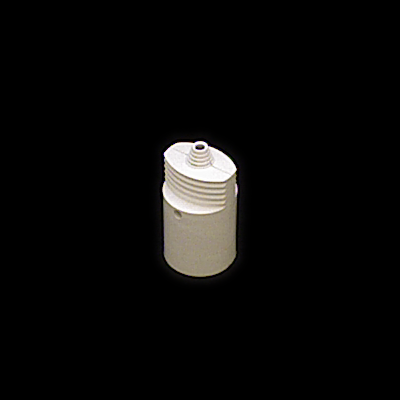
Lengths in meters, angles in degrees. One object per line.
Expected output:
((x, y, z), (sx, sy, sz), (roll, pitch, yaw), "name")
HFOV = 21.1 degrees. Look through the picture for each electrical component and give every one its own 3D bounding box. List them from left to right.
((0.000, 0.000, 0.624), (0.043, 0.082, 0.042), (0, 42, 0), "electrical component")
